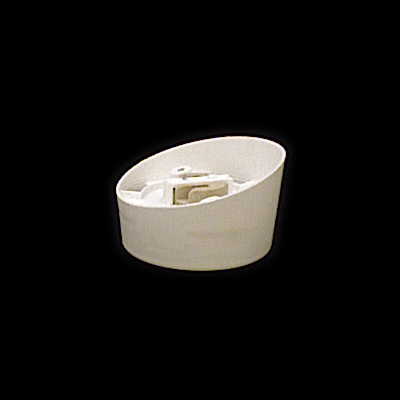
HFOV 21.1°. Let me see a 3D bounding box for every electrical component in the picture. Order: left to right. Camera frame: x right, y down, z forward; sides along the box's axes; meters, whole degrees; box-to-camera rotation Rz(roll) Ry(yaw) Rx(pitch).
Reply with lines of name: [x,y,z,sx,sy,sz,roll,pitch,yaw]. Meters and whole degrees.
electrical component: [0.000,0.000,0.639,0.099,0.065,0.097,2,20,0]
